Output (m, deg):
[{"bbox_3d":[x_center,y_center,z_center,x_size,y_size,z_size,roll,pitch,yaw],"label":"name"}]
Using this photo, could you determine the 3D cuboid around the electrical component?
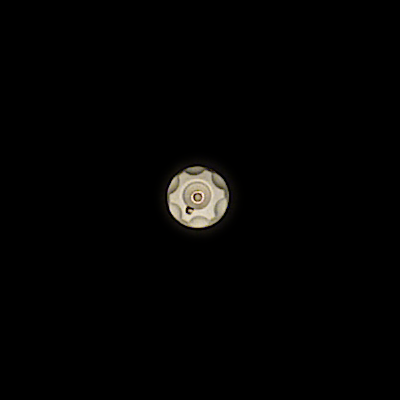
[{"bbox_3d":[0.000,0.000,0.634,0.035,0.035,0.061,0,-5,1],"label":"electrical component"}]
